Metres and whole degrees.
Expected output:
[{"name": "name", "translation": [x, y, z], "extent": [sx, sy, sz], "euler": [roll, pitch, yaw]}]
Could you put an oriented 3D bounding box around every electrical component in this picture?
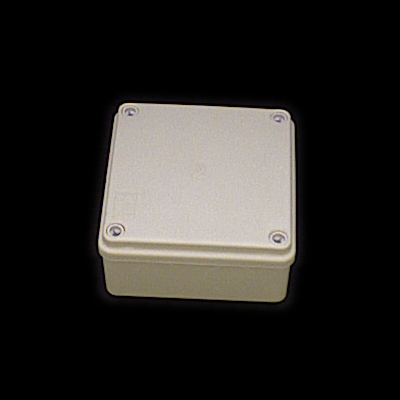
[{"name": "electrical component", "translation": [0.000, 0.000, 0.631], "extent": [0.109, 0.108, 0.056], "euler": [3, -38, 1]}]
